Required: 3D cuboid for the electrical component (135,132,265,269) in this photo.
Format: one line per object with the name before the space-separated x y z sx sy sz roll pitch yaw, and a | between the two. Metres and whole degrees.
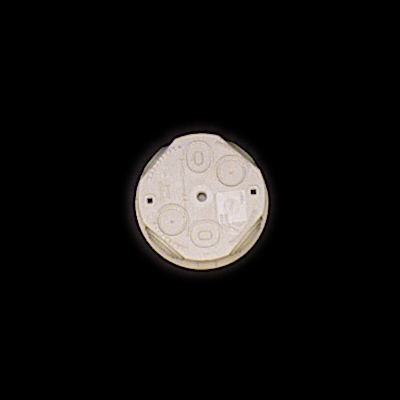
electrical component | 0.000 0.000 0.633 0.080 0.080 0.050 0 -7 0
